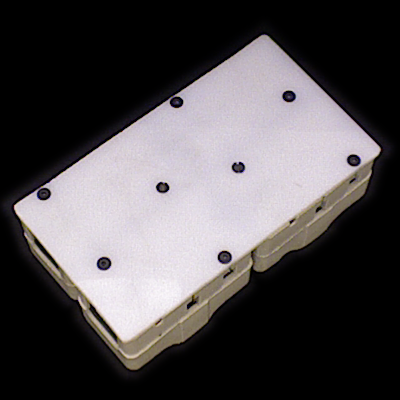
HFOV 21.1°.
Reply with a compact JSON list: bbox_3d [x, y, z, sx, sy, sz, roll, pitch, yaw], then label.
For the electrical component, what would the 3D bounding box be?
[{"bbox_3d":[0.000,0.000,0.625,0.187,0.105,0.060,-36,-21,-17],"label":"electrical component"}]
